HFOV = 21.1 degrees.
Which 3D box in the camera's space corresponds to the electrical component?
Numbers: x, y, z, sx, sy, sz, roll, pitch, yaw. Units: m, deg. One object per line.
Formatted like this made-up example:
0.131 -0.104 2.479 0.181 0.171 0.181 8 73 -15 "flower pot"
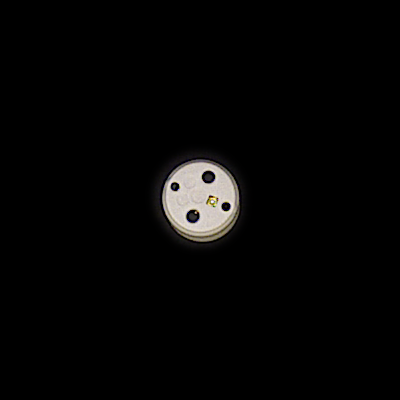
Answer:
0.000 0.000 0.629 0.045 0.045 0.055 0 -6 1 "electrical component"
